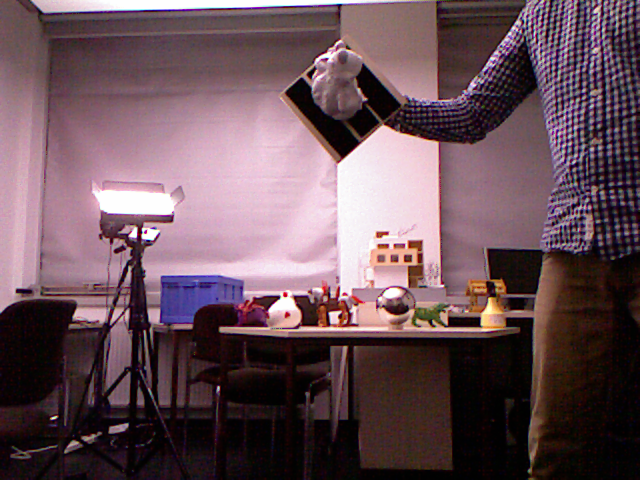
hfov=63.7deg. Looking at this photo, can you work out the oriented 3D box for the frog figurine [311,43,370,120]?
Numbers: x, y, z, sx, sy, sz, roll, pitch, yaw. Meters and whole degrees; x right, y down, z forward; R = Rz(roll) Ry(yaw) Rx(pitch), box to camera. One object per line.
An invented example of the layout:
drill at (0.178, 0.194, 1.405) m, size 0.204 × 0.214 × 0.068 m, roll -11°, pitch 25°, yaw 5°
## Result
frog figurine at (0.039, -0.328, 1.079) m, size 0.123 × 0.138 × 0.159 m, roll -27°, pitch -8°, yaw 2°
